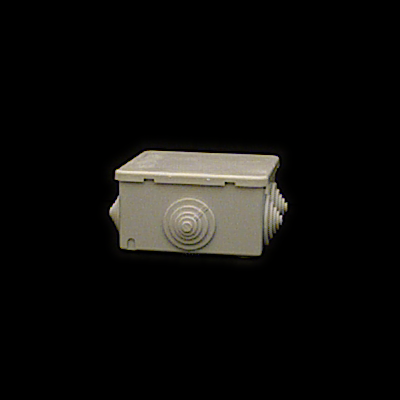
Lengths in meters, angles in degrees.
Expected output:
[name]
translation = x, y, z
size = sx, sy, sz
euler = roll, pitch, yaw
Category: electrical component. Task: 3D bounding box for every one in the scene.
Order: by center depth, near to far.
[electrical component]
translation = 0.000, 0.000, 0.652
size = 0.099, 0.049, 0.099
euler = 3, 11, 8
